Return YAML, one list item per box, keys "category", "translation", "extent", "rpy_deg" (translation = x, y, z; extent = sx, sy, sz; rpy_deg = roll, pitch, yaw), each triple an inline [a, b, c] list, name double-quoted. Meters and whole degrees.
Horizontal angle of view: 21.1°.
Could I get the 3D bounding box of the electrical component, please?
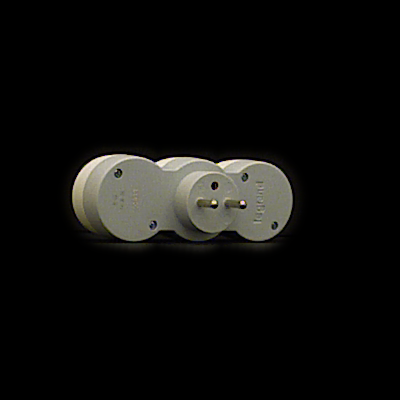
- category: "electrical component"
  translation: [0.000, 0.000, 0.653]
  extent: [0.139, 0.052, 0.073]
  rpy_deg: [1, 2, -30]
